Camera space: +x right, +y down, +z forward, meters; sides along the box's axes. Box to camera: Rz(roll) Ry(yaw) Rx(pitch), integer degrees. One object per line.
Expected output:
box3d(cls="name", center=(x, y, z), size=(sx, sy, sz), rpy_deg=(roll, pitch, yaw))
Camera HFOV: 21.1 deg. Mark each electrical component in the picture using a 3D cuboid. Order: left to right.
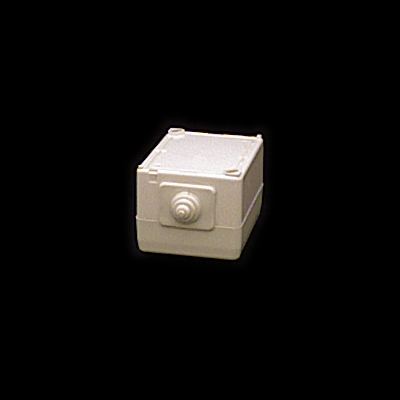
box3d(cls="electrical component", center=(0.000, 0.000, 0.638), size=(0.061, 0.061, 0.095), rpy_deg=(5, 22, 11))
